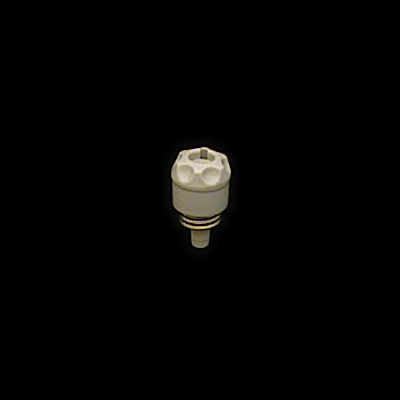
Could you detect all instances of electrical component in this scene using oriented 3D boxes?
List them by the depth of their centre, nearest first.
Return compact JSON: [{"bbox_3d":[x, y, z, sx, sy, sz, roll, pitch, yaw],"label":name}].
[{"bbox_3d":[0.000,0.000,0.643,0.035,0.062,0.034,1,32,0],"label":"electrical component"}]
